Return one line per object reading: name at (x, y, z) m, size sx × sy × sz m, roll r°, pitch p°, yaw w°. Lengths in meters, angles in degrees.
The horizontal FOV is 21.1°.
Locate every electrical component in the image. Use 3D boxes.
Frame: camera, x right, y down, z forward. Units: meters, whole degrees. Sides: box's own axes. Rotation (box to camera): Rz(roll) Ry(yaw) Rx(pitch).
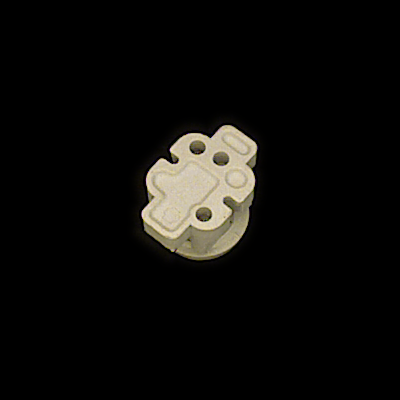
electrical component at (0.000, 0.000, 0.634) m, size 0.057 × 0.079 × 0.056 m, roll 36°, pitch -20°, yaw 16°
